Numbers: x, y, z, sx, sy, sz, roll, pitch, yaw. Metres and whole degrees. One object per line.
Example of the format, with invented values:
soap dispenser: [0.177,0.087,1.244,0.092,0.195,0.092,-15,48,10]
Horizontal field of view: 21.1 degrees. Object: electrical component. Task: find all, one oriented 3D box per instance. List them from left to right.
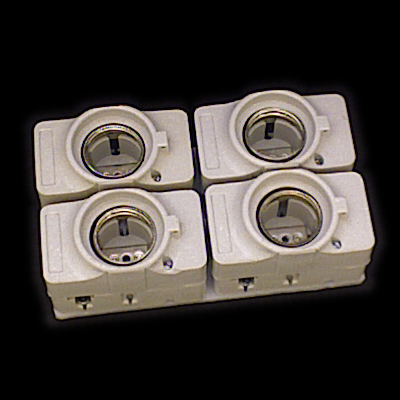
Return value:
electrical component: [0.000,0.000,0.626,0.186,0.105,0.060,-6,-27,-4]
